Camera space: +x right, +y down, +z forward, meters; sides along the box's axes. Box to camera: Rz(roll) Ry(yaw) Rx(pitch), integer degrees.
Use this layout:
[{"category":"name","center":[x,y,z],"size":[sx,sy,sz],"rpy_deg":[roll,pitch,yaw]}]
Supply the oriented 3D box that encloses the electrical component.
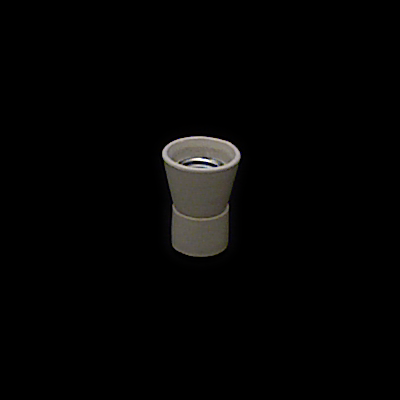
[{"category":"electrical component","center":[0.000,0.000,0.635],"size":[0.044,0.066,0.044],"rpy_deg":[1,30,0]}]
